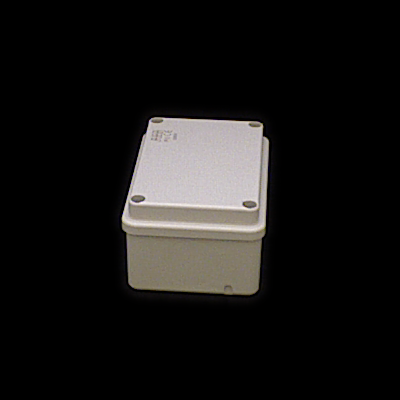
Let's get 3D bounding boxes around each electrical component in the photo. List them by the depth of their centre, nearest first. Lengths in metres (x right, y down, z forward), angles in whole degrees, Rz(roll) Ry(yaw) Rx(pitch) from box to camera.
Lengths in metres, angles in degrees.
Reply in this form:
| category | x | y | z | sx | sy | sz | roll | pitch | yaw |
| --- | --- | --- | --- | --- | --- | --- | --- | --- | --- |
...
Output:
| category | x | y | z | sx | sy | sz | roll | pitch | yaw |
| --- | --- | --- | --- | --- | --- | --- | --- | --- | --- |
| electrical component | 0.000 | 0.000 | 0.634 | 0.078 | 0.058 | 0.111 | 3 | 32 | 3 |
